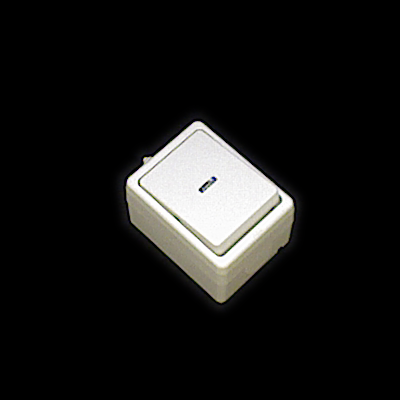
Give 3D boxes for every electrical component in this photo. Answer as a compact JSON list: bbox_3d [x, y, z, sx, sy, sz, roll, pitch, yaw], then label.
[{"bbox_3d":[0.000,0.000,0.627,0.096,0.062,0.061,42,-20,19],"label":"electrical component"}]
